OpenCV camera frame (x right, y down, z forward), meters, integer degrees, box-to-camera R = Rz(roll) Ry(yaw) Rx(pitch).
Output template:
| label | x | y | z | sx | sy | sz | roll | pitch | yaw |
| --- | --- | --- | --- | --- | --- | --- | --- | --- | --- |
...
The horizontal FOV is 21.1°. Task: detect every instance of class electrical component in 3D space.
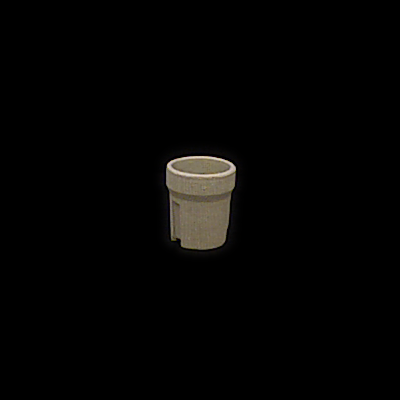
| label | x | y | z | sx | sy | sz | roll | pitch | yaw |
| --- | --- | --- | --- | --- | --- | --- | --- | --- | --- |
| electrical component | 0.000 | 0.000 | 0.641 | 0.040 | 0.047 | 0.039 | 1 | 21 | 0 |
